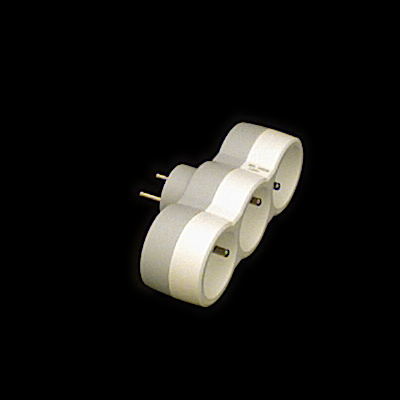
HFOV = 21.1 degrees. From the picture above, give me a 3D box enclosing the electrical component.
[{"bbox_3d":[0.000,0.000,0.643,0.073,0.053,0.138,20,46,21],"label":"electrical component"}]
